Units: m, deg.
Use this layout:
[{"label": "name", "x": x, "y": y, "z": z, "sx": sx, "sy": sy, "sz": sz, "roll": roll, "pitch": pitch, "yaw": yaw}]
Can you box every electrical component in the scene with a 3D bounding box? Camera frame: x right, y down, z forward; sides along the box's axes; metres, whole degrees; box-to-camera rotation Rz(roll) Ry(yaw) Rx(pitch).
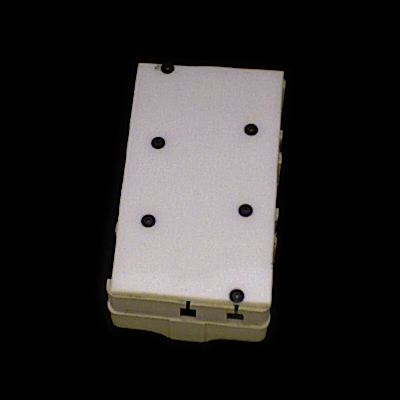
[{"label": "electrical component", "x": 0.000, "y": 0.000, "z": 0.630, "sx": 0.089, "sy": 0.149, "sz": 0.062, "roll": 5, "pitch": -27, "yaw": 3}]
